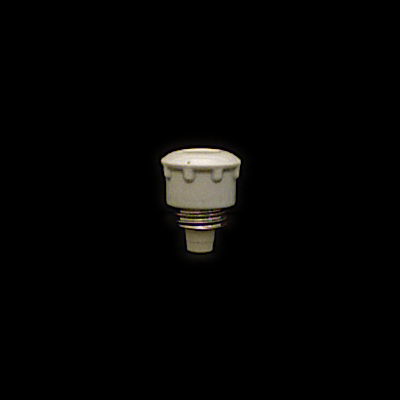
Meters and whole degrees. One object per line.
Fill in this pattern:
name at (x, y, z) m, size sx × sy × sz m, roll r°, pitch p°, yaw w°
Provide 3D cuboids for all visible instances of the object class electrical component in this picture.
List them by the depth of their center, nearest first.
electrical component at (0.000, 0.000, 0.649) m, size 0.048 × 0.062 × 0.048 m, roll 1°, pitch 11°, yaw 0°
